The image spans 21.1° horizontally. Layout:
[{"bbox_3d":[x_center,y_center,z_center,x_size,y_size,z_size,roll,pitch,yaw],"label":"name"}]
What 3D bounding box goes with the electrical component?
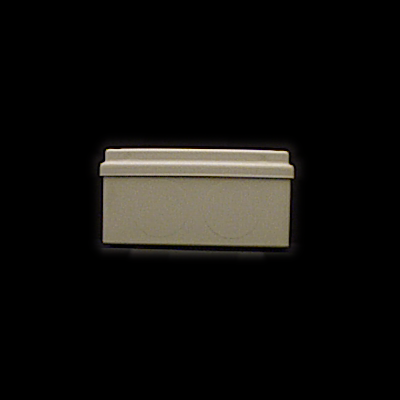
[{"bbox_3d":[0.000,0.000,0.648,0.109,0.056,0.108,1,0,2],"label":"electrical component"}]
